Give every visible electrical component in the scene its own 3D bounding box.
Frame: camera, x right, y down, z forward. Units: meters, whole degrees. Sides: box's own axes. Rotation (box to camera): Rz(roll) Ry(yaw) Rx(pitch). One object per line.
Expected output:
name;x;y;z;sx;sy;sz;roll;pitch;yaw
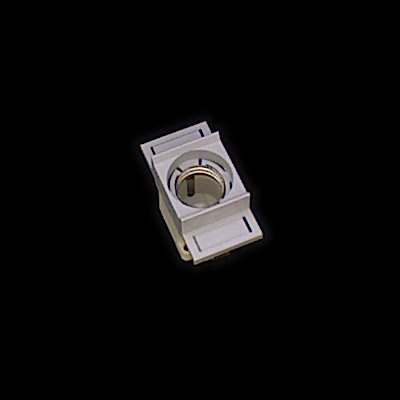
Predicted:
electrical component;0.000;0.000;0.623;0.042;0.081;0.063;-20;-26;-11
